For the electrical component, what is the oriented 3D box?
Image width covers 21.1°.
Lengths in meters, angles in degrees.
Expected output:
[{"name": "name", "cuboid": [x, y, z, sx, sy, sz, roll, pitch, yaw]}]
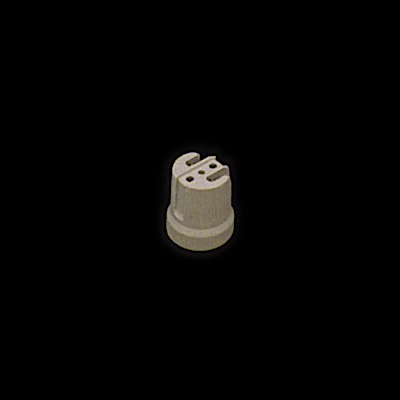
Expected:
[{"name": "electrical component", "cuboid": [0.000, 0.000, 0.636, 0.040, 0.046, 0.040, 1, 43, 0]}]
